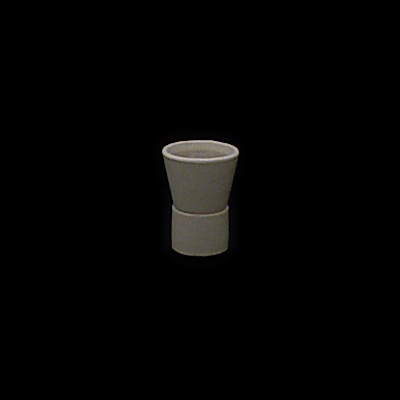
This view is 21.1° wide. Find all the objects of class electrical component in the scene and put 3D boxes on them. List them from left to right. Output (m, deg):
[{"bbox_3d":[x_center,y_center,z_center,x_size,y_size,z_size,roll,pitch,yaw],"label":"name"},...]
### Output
[{"bbox_3d":[0.000,0.000,0.640,0.044,0.066,0.044,0,20,0],"label":"electrical component"}]
